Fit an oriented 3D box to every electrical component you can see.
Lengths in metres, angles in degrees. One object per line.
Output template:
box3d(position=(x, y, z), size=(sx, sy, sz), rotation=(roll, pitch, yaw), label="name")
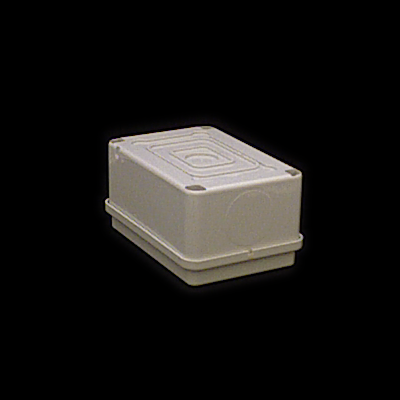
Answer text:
box3d(position=(0.000, 0.000, 0.639), size=(0.078, 0.058, 0.111), rotation=(-10, 24, -28), label="electrical component")
